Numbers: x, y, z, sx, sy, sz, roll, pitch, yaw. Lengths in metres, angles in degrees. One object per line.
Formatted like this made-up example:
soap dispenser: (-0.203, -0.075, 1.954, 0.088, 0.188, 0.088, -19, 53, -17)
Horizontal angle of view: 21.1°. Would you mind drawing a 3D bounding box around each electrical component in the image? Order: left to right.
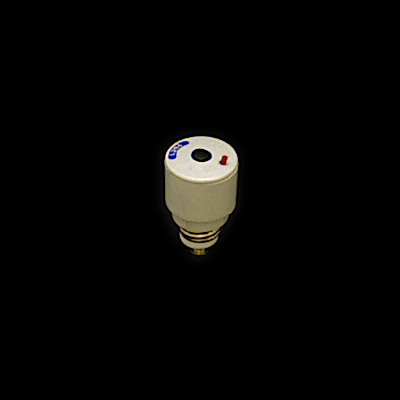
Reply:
electrical component: (0.000, 0.000, 0.623, 0.040, 0.079, 0.039, 1, 42, -1)
